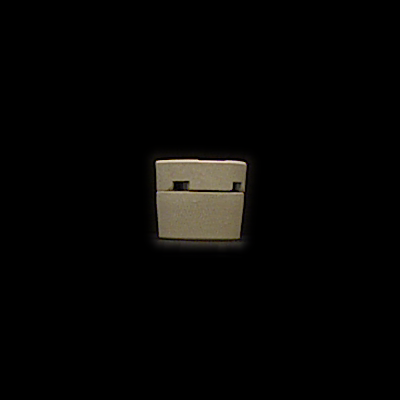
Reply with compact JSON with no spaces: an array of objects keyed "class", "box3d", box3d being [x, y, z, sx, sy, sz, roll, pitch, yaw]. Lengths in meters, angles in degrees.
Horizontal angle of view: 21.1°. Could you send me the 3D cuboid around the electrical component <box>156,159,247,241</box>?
[{"class":"electrical component","box3d":[0.000,0.000,0.650,0.055,0.047,0.055,2,1,0]}]
